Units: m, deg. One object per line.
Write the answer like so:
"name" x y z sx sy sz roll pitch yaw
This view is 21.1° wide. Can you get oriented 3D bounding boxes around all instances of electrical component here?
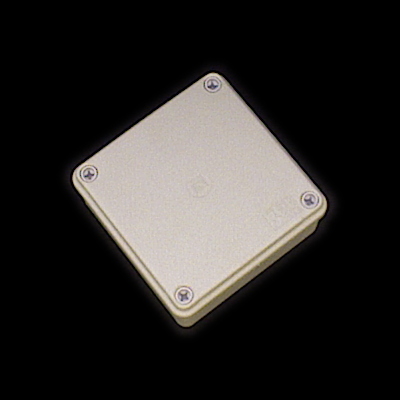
"electrical component" 0.000 0.000 0.629 0.109 0.109 0.056 -37 -14 -10
